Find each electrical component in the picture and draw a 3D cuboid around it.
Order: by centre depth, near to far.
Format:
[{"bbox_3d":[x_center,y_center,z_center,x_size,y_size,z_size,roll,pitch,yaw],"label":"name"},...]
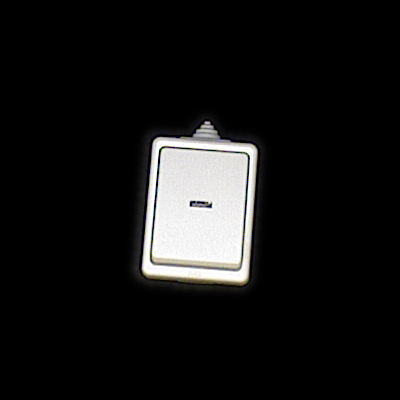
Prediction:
[{"bbox_3d":[0.000,0.000,0.627,0.062,0.096,0.061,4,-7,1],"label":"electrical component"}]
